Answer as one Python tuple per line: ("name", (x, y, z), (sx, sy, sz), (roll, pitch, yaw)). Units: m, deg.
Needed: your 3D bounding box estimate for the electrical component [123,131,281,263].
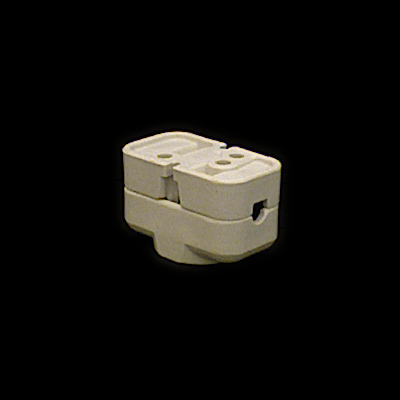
("electrical component", (0.000, 0.000, 0.648), (0.094, 0.060, 0.054), (19, 28, 39))
